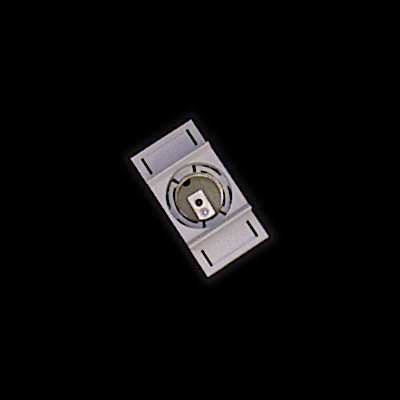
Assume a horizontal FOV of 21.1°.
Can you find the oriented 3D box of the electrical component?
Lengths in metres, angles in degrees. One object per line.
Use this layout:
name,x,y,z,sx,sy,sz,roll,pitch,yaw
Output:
electrical component,0.000,0.000,0.624,0.042,0.081,0.063,-33,-6,-4
